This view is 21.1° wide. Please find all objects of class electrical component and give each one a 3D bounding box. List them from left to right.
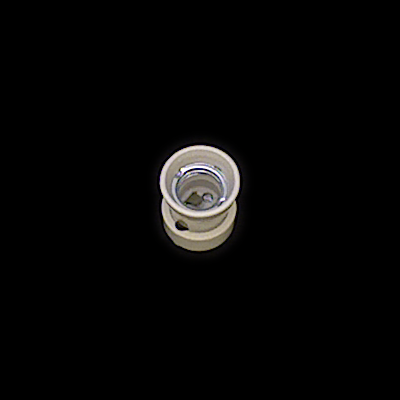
[{"bbox_3d":[0.000,0.000,0.628,0.045,0.045,0.055,0,-26,-1],"label":"electrical component"}]
